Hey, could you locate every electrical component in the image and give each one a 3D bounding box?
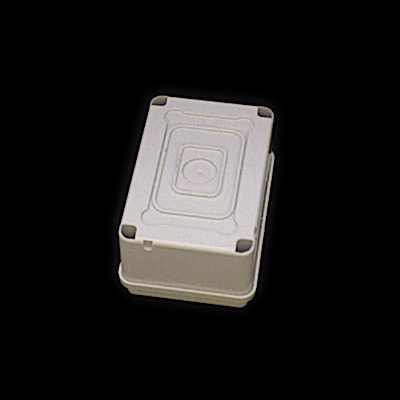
[{"bbox_3d":[0.000,0.000,0.629,0.078,0.112,0.057,7,-38,5],"label":"electrical component"}]
